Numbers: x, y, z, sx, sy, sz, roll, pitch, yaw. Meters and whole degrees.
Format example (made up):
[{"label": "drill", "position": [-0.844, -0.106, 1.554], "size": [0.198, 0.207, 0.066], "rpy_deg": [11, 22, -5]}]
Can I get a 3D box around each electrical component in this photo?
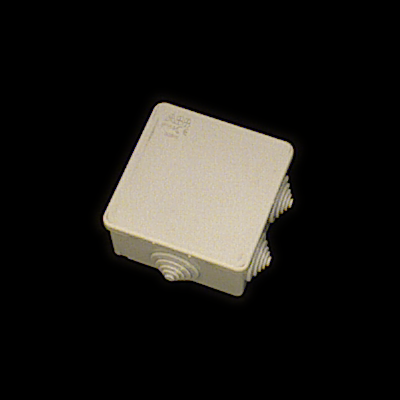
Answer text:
[{"label": "electrical component", "position": [0.000, 0.000, 0.640], "size": [0.099, 0.100, 0.048], "rpy_deg": [19, -25, 9]}]
